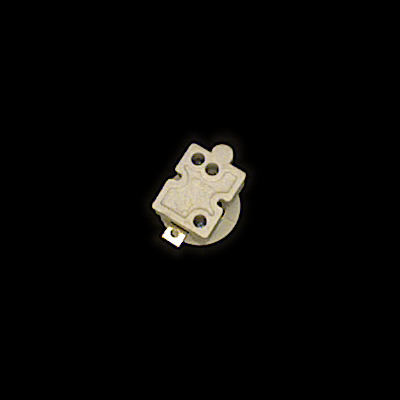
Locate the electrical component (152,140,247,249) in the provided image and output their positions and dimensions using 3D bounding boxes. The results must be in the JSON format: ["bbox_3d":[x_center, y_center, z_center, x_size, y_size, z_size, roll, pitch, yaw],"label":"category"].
[{"bbox_3d":[0.000,0.000,0.638,0.048,0.067,0.055,31,-13,7],"label":"electrical component"}]
